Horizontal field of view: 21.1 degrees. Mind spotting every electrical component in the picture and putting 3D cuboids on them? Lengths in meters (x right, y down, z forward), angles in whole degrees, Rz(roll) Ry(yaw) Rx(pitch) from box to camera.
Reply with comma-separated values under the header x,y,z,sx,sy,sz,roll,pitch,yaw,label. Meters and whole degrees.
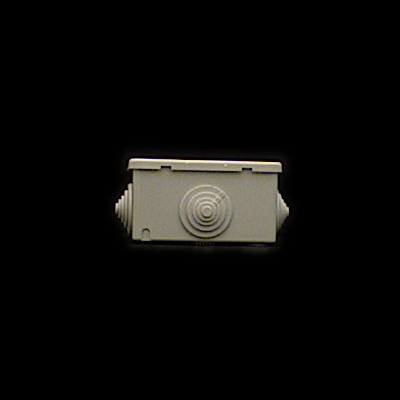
x,y,z,sx,sy,sz,roll,pitch,yaw,label
0.000,0.000,0.656,0.100,0.048,0.099,1,1,-5,electrical component
